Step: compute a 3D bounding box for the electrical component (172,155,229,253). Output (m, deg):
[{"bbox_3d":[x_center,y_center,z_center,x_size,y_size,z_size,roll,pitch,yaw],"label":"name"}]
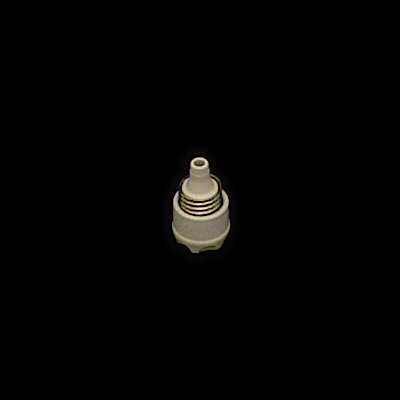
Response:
[{"bbox_3d":[0.000,0.000,0.641,0.035,0.062,0.035,-1,42,1],"label":"electrical component"}]
